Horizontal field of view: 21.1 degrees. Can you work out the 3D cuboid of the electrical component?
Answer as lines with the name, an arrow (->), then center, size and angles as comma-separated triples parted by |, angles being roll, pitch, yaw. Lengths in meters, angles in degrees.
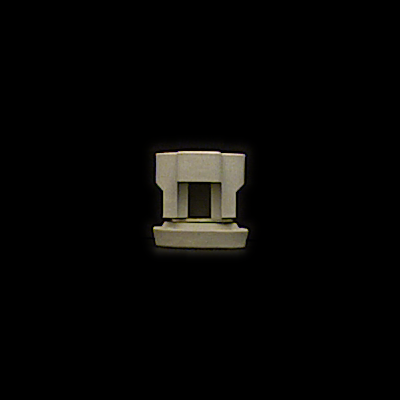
electrical component -> 0.000, 0.000, 0.658 | 0.058, 0.057, 0.078 | 1, 0, 0
